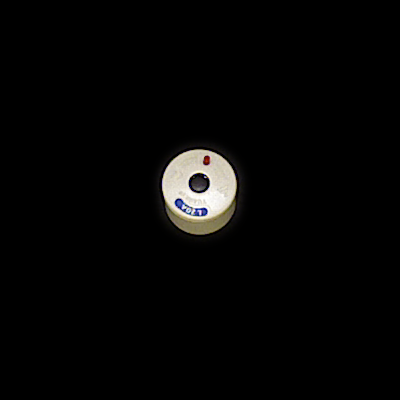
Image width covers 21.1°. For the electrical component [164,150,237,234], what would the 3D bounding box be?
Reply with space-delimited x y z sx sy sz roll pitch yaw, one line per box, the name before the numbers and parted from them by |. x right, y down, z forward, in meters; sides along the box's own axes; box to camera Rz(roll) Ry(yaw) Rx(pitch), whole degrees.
electrical component | 0.000 0.000 0.618 0.040 0.040 0.078 0 -18 0
